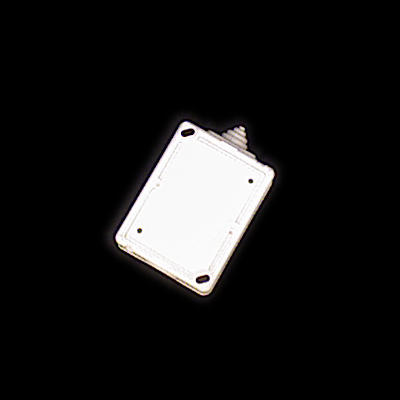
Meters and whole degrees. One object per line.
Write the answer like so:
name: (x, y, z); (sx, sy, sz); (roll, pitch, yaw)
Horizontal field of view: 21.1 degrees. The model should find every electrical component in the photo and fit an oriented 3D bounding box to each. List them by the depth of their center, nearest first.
electrical component: (0.000, 0.000, 0.629); (0.062, 0.096, 0.061); (29, -7, 4)
